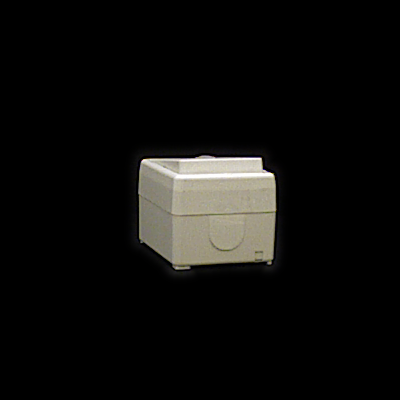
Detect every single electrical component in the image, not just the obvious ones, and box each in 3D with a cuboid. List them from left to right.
[{"bbox_3d":[0.000,0.000,0.646,0.062,0.061,0.095,-2,11,-18],"label":"electrical component"}]
